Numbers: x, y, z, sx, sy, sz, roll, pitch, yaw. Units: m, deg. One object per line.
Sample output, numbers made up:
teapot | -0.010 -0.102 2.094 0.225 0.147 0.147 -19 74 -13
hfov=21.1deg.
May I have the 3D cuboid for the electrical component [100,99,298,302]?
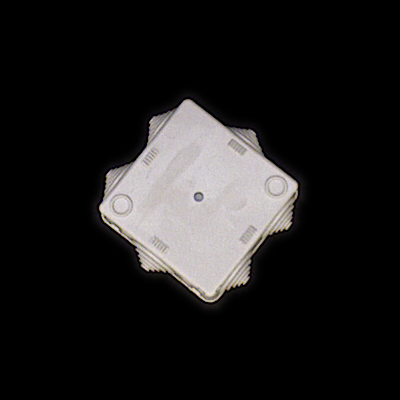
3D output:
electrical component | 0.000 0.000 0.632 0.100 0.100 0.048 38 -5 4
